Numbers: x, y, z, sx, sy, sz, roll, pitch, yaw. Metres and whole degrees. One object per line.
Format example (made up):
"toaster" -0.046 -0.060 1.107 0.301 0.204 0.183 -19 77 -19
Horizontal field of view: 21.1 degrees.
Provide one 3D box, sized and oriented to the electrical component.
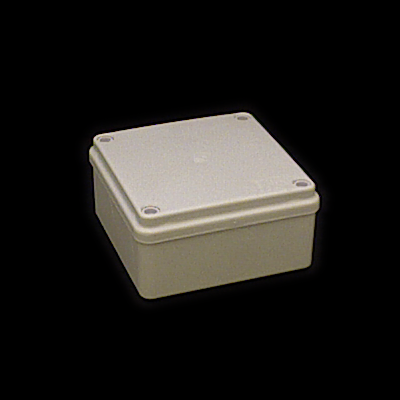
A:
"electrical component" 0.000 0.000 0.636 0.109 0.057 0.107 -10 33 -18
